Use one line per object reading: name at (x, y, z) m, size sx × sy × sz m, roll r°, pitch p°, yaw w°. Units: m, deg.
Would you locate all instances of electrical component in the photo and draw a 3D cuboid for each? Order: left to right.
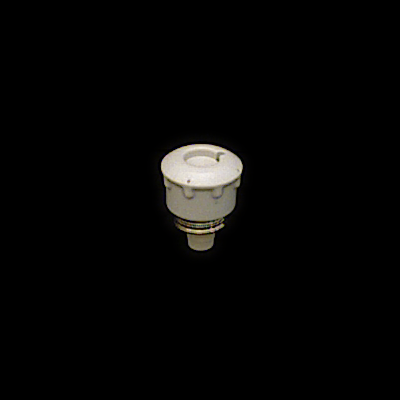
electrical component at (0.000, 0.000, 0.643) m, size 0.048 × 0.063 × 0.047 m, roll 1°, pitch 32°, yaw 0°
